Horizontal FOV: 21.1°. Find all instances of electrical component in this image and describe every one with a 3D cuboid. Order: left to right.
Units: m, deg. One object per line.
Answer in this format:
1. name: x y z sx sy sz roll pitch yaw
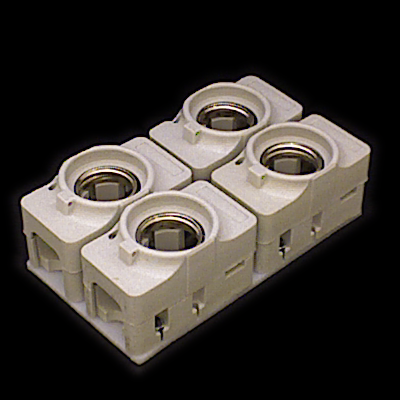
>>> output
1. electrical component: 0.000 0.000 0.629 0.186 0.061 0.105 -31 51 -30
